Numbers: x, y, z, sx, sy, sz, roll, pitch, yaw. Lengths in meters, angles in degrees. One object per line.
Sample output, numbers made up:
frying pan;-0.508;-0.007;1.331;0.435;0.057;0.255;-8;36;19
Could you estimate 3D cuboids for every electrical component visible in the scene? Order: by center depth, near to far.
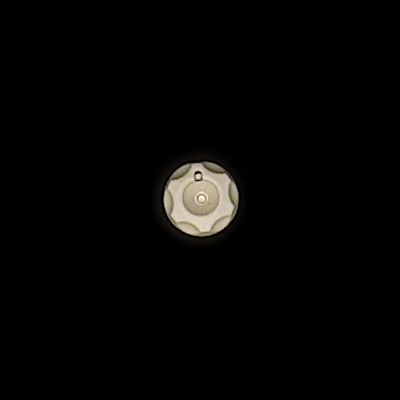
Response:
electrical component;0.000;0.000;0.635;0.043;0.043;0.062;0;-4;1
